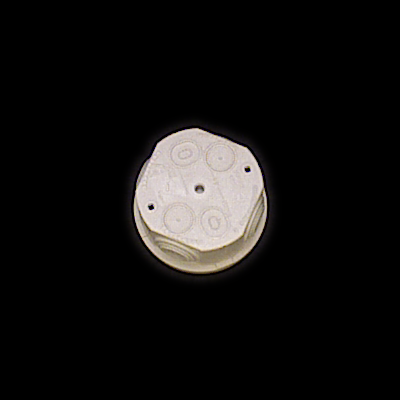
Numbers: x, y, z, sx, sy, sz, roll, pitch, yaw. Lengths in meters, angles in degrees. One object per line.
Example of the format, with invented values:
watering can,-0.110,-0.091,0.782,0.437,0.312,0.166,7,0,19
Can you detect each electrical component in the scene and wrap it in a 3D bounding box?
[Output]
electrical component,0.000,0.000,0.631,0.080,0.080,0.050,0,-17,0
